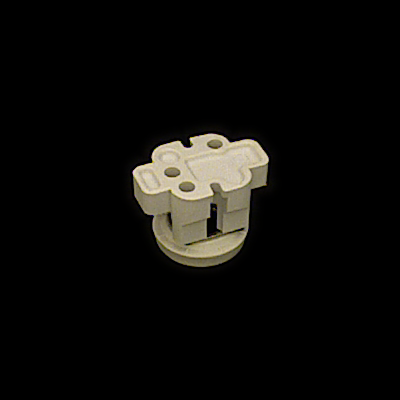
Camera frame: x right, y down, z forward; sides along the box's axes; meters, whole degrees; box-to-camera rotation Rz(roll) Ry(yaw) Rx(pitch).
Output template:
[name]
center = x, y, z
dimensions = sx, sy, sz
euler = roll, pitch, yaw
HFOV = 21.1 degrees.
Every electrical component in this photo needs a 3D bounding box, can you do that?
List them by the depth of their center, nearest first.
[electrical component]
center = 0.000, 0.000, 0.641
dimensions = 0.079, 0.057, 0.057
euler = -15, 44, -19
